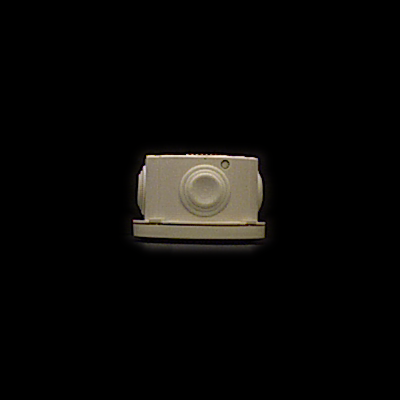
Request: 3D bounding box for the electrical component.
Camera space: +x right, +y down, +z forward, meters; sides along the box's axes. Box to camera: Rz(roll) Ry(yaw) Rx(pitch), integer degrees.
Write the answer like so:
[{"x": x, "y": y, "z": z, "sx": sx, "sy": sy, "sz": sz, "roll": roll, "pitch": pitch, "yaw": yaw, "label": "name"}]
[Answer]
[{"x": 0.000, "y": 0.000, "z": 0.650, "sx": 0.080, "sy": 0.051, "sz": 0.080, "roll": 1, "pitch": 0, "yaw": 0, "label": "electrical component"}]
